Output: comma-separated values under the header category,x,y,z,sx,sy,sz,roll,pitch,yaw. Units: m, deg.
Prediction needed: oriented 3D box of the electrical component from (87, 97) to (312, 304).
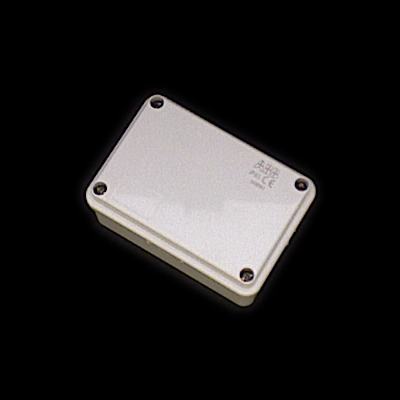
category,x,y,z,sx,sy,sz,roll,pitch,yaw
electrical component,0.000,0.000,0.627,0.113,0.078,0.057,30,-14,9
